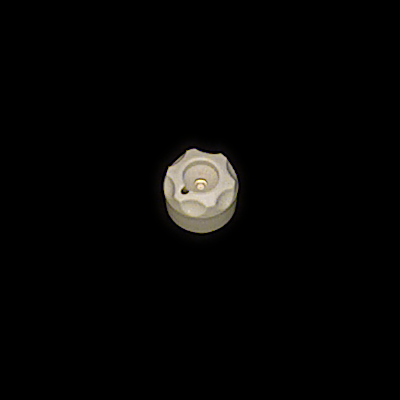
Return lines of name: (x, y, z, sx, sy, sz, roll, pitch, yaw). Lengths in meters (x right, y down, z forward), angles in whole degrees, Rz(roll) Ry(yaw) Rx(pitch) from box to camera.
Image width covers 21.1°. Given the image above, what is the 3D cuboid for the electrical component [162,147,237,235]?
electrical component: (0.000, 0.000, 0.634, 0.043, 0.043, 0.062, 0, -27, 0)
